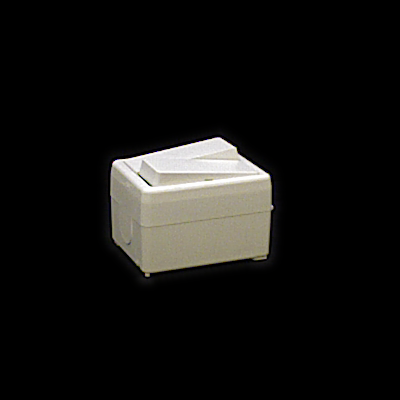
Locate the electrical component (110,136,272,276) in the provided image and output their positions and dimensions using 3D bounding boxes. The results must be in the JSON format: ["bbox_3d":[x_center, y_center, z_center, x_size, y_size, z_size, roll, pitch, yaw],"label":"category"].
[{"bbox_3d":[0.000,0.000,0.640,0.096,0.061,0.061,-7,22,-21],"label":"electrical component"}]
